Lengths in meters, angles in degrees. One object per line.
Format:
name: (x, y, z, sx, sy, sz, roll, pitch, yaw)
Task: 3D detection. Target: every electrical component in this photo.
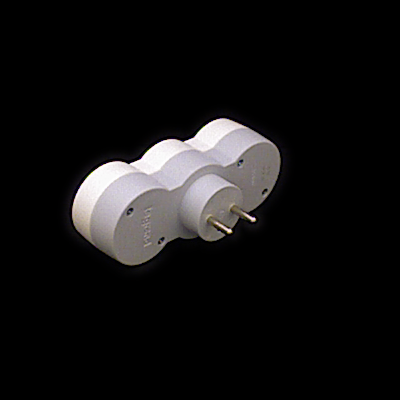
electrical component: (0.000, 0.000, 0.639, 0.138, 0.053, 0.073, -24, 42, -36)
